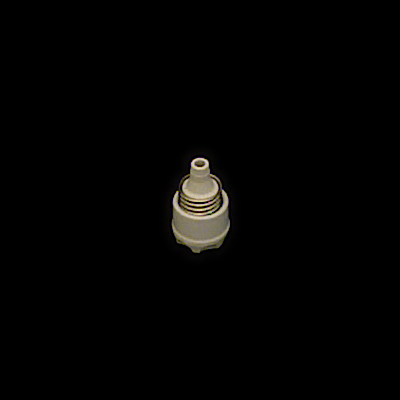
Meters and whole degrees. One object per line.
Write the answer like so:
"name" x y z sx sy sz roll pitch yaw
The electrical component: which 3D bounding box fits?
"electrical component" 0.000 0.000 0.643 0.035 0.062 0.035 -1 44 1
